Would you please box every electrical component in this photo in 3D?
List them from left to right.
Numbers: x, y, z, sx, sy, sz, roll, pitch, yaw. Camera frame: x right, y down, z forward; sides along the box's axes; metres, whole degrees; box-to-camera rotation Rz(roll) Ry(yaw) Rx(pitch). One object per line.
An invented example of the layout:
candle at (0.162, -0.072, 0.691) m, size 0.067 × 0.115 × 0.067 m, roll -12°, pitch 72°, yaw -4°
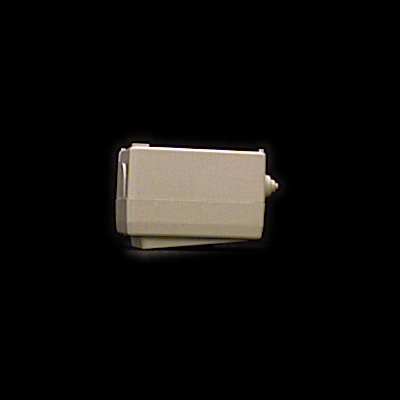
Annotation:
electrical component at (0.000, 0.000, 0.648) m, size 0.096 × 0.061 × 0.061 m, roll 2°, pitch 0°, yaw -11°
